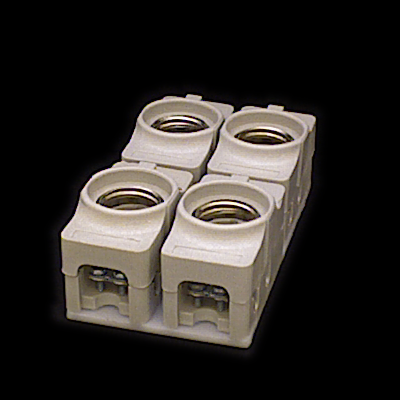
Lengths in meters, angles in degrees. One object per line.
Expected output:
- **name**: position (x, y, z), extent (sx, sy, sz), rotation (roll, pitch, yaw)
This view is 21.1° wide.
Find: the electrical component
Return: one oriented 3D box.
- **electrical component**: position (0.000, 0.000, 0.634), extent (0.105, 0.061, 0.184), rotation (9, 32, 13)
